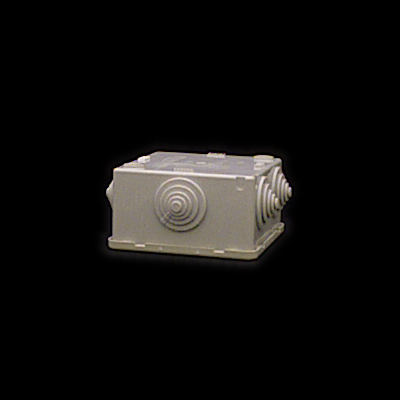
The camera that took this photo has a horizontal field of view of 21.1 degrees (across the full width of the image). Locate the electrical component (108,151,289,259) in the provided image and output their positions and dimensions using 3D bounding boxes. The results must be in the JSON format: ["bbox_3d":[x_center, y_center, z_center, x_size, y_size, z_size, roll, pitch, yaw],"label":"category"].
[{"bbox_3d":[0.000,0.000,0.644,0.099,0.049,0.099,4,11,15],"label":"electrical component"}]
